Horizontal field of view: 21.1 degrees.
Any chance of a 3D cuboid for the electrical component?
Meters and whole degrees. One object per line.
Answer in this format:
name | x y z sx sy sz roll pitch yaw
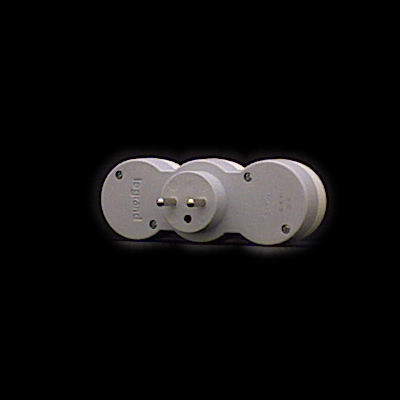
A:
electrical component | 0.000 0.000 0.649 0.138 0.052 0.073 2 3 24
